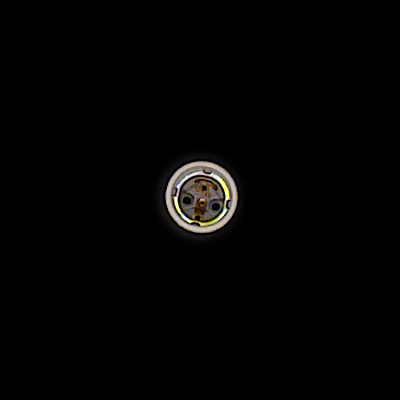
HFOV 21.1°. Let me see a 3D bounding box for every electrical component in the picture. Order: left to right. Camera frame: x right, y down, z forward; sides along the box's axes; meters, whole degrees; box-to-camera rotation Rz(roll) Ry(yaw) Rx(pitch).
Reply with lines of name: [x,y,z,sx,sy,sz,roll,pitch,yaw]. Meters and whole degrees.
electrical component: [0.000,0.000,0.627,0.040,0.040,0.046,0,-6,0]
